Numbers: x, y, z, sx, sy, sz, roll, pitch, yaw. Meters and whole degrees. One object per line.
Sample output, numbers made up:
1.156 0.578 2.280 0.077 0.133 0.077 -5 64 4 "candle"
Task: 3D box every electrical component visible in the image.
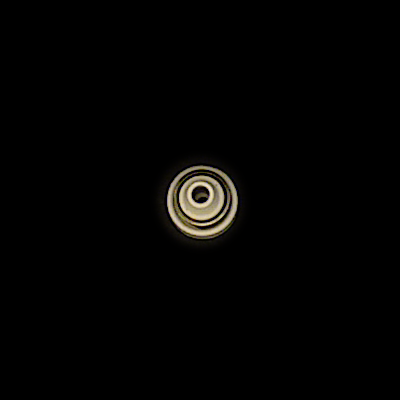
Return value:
0.000 0.000 0.635 0.043 0.043 0.062 0 -7 1 "electrical component"
